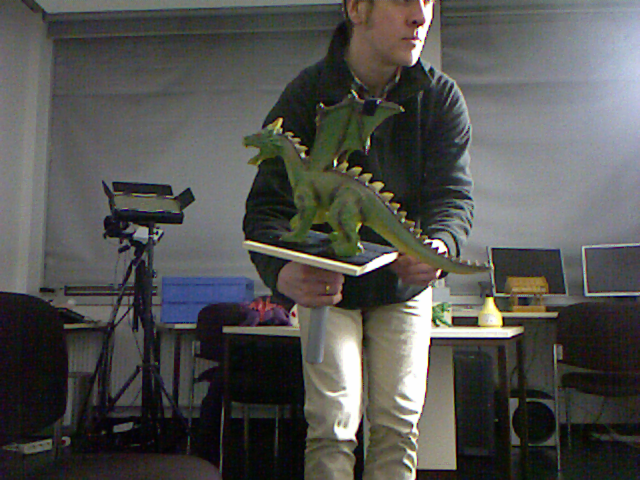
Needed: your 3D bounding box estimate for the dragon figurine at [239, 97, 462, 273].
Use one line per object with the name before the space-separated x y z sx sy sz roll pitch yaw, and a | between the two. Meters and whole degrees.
dragon figurine | 0.043 -0.107 0.825 0.412 0.241 0.123 13 13 25
